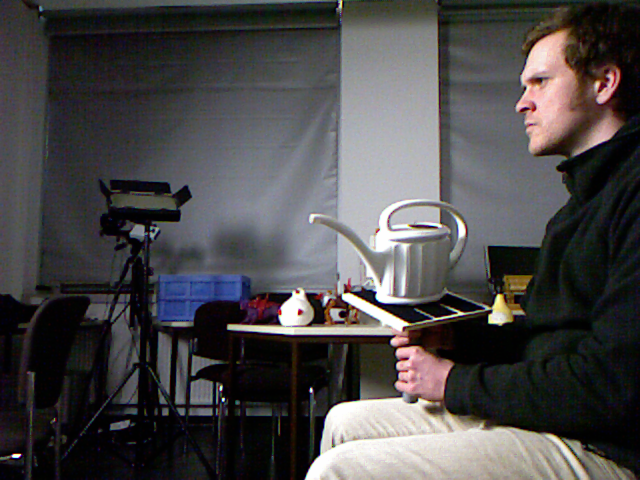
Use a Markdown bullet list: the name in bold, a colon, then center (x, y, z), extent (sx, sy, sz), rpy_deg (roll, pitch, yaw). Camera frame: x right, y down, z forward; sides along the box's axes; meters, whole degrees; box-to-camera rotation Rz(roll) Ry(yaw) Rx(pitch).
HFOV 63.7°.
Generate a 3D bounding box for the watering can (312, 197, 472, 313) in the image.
- **watering can**: center (0.140, 0.031, 0.966), extent (0.349, 0.222, 0.105), rpy_deg (-5, 15, -25)
